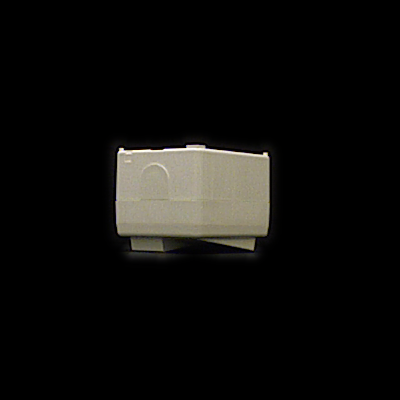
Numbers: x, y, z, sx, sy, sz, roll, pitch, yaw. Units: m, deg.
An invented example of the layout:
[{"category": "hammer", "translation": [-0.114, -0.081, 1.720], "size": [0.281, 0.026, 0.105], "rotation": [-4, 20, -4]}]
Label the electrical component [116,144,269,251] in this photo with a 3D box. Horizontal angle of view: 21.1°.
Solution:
[{"category": "electrical component", "translation": [0.000, 0.000, 0.658], "size": [0.062, 0.061, 0.096], "rotation": [1, 0, 35]}]
